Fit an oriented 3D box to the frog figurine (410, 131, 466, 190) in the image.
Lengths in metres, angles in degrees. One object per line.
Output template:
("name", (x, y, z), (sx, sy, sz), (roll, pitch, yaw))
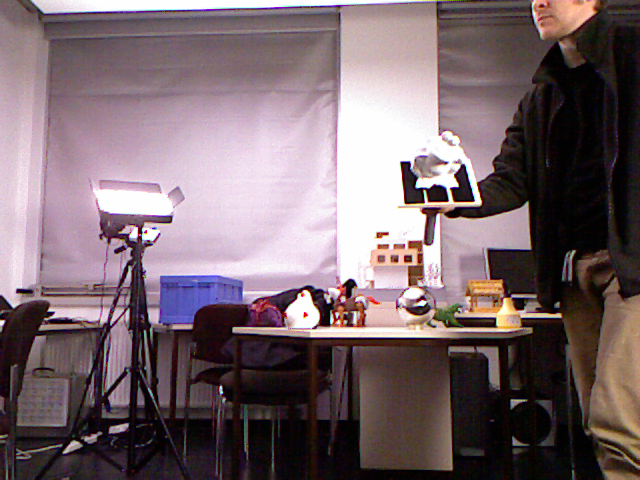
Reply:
("frog figurine", (0.300, -0.214, 1.305), (0.138, 0.155, 0.125), (12, 43, 18))
